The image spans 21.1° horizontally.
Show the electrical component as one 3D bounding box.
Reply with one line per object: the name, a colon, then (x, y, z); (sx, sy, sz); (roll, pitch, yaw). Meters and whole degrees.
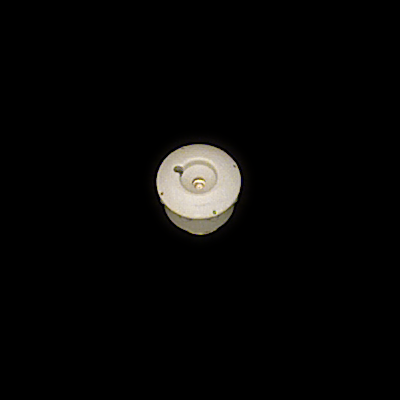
electrical component: (0.000, 0.000, 0.632); (0.048, 0.048, 0.062); (0, -27, 0)
